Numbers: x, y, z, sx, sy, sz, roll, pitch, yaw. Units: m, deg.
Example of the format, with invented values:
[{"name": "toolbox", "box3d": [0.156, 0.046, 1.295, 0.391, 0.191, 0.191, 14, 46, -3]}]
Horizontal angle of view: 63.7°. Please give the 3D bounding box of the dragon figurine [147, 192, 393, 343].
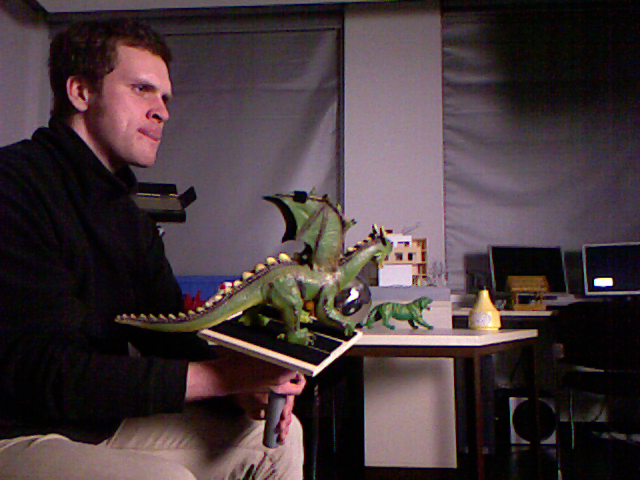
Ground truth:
[{"name": "dragon figurine", "box3d": [-0.048, 0.037, 0.815, 0.411, 0.240, 0.124, 1, 18, -31]}]
